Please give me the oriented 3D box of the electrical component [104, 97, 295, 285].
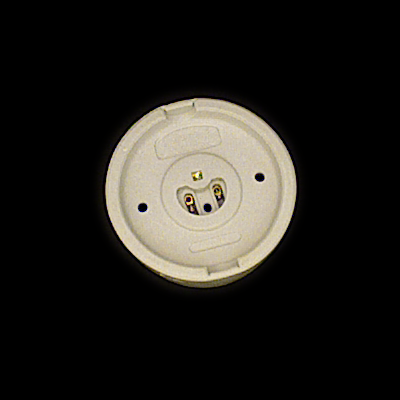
[{"bbox_3d":[0.000,0.000,0.634,0.108,0.108,0.060,0,-16,0],"label":"electrical component"}]
